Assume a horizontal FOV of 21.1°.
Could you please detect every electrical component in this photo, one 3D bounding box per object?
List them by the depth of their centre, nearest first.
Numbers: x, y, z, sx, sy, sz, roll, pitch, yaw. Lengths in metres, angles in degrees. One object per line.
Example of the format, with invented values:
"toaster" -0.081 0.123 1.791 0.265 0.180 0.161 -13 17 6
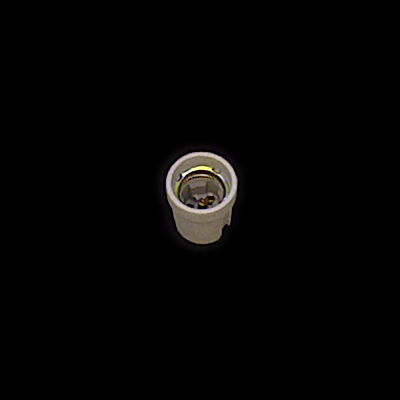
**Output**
"electrical component" 0.000 0.000 0.628 0.040 0.040 0.046 0 -28 0
